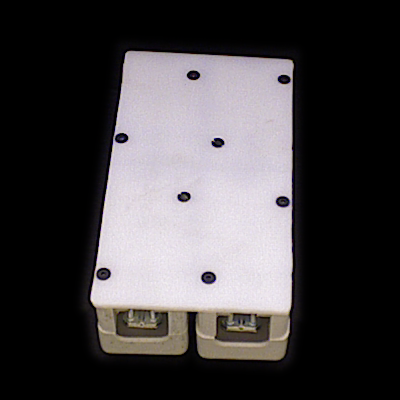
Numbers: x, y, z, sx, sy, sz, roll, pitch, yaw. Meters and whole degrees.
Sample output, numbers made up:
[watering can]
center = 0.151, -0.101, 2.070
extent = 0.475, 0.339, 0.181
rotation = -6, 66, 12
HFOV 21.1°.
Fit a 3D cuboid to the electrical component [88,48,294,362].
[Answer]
[electrical component]
center = 0.000, 0.000, 0.627
extent = 0.105, 0.185, 0.060
rotation = 3, -38, 1
